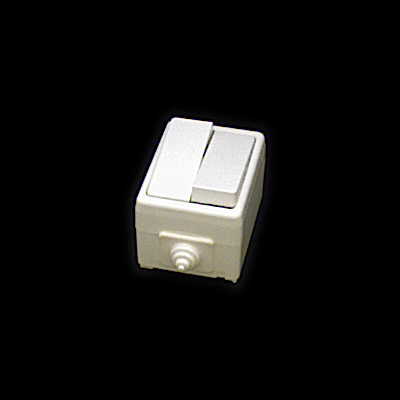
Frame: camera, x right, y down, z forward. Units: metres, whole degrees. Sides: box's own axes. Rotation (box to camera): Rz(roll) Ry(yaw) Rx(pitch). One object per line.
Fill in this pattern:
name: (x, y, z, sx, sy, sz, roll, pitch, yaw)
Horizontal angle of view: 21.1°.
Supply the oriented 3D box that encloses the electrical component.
electrical component: (0.000, 0.000, 0.629, 0.061, 0.061, 0.096, 9, 42, 9)
